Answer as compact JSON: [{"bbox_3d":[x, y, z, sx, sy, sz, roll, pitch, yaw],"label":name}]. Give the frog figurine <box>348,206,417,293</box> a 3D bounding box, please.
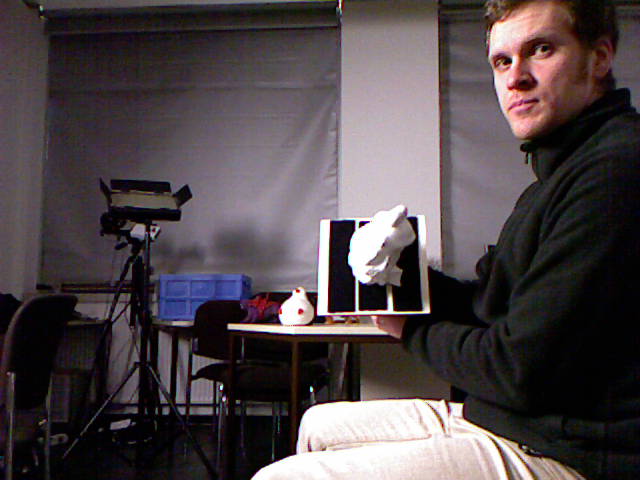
[{"bbox_3d":[0.105,0.007,0.906,0.124,0.140,0.157,17,-25,17],"label":"frog figurine"}]
